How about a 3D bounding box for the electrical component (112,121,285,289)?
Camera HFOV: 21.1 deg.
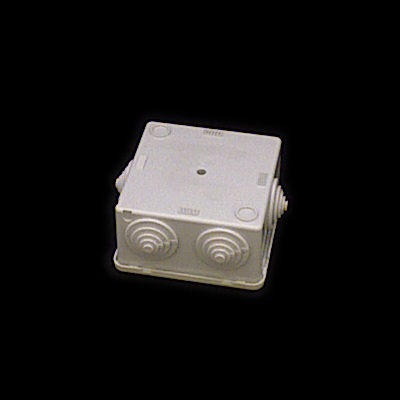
[{"bbox_3d":[0.000,0.000,0.634,0.099,0.049,0.099,8,43,8],"label":"electrical component"}]
